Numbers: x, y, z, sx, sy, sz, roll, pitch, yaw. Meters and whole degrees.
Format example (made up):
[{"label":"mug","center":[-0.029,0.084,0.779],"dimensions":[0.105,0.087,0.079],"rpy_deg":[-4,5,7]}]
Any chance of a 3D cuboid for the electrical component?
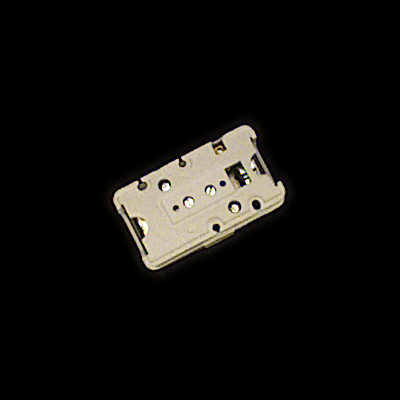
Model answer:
[{"label":"electrical component","center":[0.000,0.000,0.637],"dimensions":[0.090,0.050,0.055],"rpy_deg":[-28,-6,-3]}]
